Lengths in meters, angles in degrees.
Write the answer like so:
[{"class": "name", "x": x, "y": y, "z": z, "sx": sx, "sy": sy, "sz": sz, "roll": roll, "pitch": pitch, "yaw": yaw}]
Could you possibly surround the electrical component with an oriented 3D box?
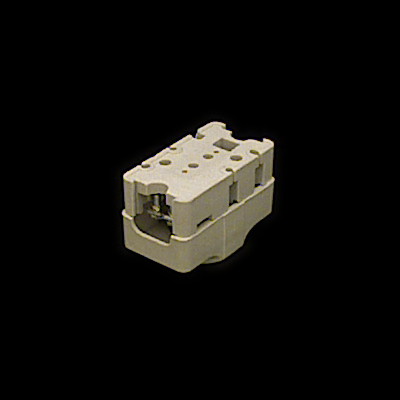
[{"class": "electrical component", "x": 0.000, "y": 0.000, "z": 0.643, "sx": 0.049, "sy": 0.056, "sz": 0.089, "roll": 22, "pitch": 37, "yaw": 31}]
